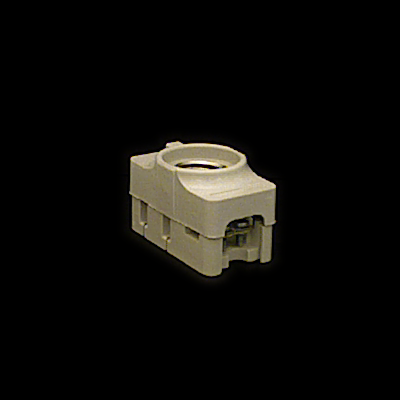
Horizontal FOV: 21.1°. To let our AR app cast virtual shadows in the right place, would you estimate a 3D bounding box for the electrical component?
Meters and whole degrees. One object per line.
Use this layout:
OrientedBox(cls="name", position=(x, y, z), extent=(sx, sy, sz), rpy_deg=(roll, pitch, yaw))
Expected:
OrientedBox(cls="electrical component", position=(0.000, 0.000, 0.647), extent=(0.050, 0.056, 0.088), rpy_deg=(-14, 26, -33))
